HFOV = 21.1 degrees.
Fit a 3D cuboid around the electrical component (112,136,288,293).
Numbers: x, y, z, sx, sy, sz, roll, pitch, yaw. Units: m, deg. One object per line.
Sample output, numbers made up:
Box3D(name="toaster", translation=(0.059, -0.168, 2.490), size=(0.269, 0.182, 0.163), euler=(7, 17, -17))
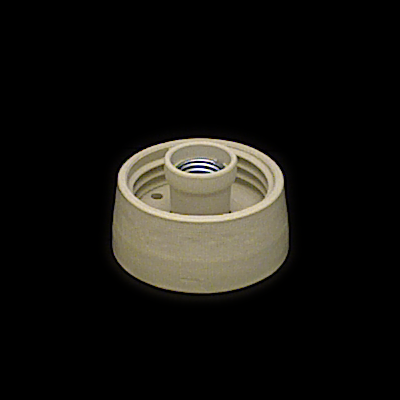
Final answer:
Box3D(name="electrical component", translation=(0.000, 0.000, 0.643), size=(0.108, 0.061, 0.106), euler=(1, 32, 0))
